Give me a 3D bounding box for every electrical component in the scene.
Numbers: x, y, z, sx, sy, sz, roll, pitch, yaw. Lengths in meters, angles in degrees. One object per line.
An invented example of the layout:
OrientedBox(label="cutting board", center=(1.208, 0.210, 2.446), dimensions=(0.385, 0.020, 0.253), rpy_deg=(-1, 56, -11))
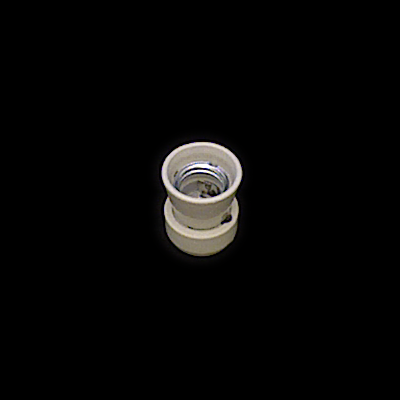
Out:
OrientedBox(label="electrical component", center=(0.000, 0.000, 0.630), dimensions=(0.045, 0.044, 0.055), rpy_deg=(0, -38, -1))
